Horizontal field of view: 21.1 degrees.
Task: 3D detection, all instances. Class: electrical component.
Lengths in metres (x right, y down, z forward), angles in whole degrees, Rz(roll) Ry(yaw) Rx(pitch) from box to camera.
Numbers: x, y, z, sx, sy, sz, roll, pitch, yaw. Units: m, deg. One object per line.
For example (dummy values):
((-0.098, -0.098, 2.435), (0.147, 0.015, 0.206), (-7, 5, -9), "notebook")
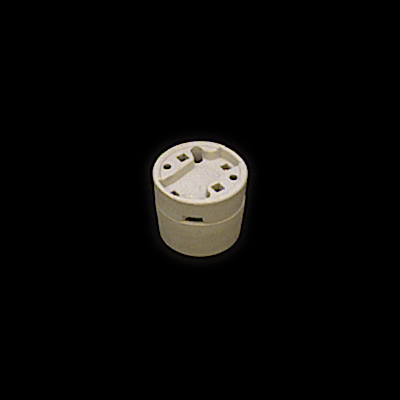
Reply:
((0.000, 0.000, 0.635), (0.055, 0.047, 0.055), (1, 42, 0), "electrical component")
